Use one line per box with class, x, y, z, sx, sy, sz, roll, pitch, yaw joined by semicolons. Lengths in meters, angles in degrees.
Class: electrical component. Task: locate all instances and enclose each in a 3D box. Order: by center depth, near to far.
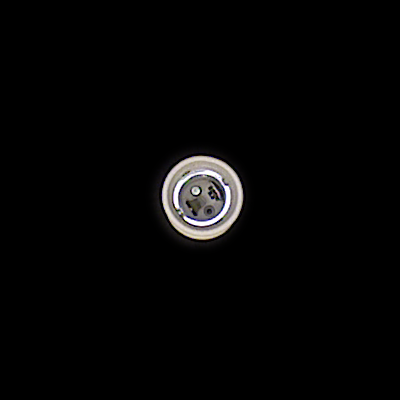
electrical component;0.000;0.000;0.629;0.045;0.045;0.055;0;-6;0
